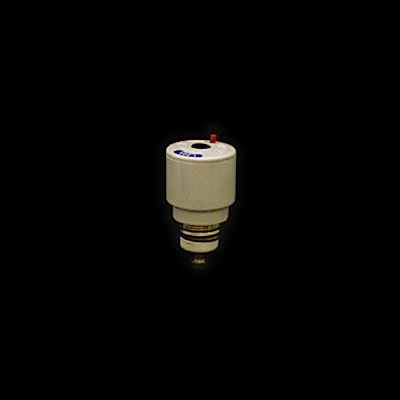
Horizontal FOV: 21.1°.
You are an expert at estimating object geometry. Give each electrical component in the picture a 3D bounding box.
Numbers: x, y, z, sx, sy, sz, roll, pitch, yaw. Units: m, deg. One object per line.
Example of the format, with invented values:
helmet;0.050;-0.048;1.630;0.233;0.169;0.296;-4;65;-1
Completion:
electrical component;0.000;0.000;0.637;0.040;0.079;0.039;1;21;0
